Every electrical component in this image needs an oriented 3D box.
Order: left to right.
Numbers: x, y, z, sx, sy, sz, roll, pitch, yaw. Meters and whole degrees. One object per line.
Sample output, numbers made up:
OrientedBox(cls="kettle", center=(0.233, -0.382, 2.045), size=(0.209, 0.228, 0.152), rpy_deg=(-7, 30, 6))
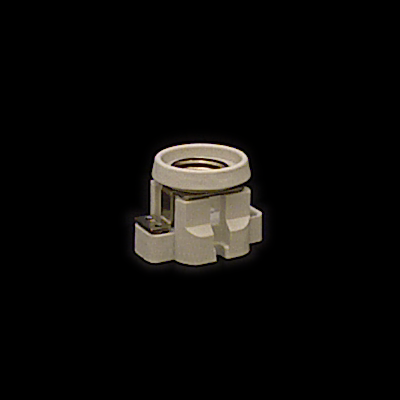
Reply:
OrientedBox(cls="electrical component", center=(0.000, 0.000, 0.637), size=(0.078, 0.057, 0.057), rpy_deg=(-11, 24, -28))
